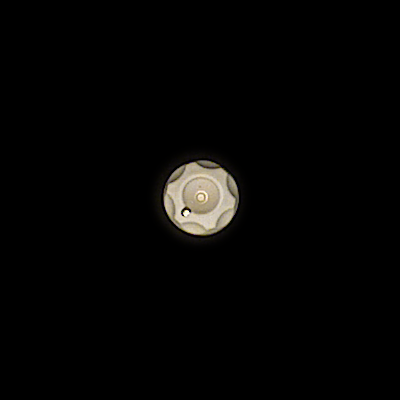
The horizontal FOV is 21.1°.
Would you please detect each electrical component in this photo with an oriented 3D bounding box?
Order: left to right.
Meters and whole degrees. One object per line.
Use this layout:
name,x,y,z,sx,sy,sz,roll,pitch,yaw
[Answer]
electrical component,0.000,0.000,0.635,0.043,0.043,0.062,0,-6,1
